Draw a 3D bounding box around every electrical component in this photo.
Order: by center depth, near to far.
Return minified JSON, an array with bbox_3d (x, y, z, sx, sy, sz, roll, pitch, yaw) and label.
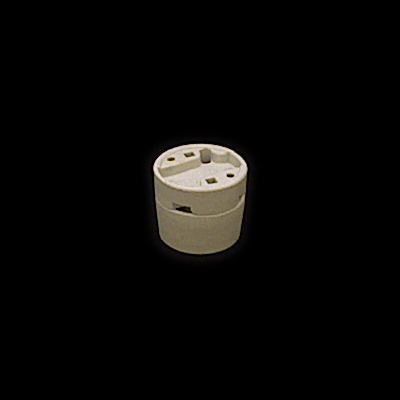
[{"bbox_3d":[0.000,0.000,0.637,0.055,0.047,0.055,1,31,0],"label":"electrical component"}]
